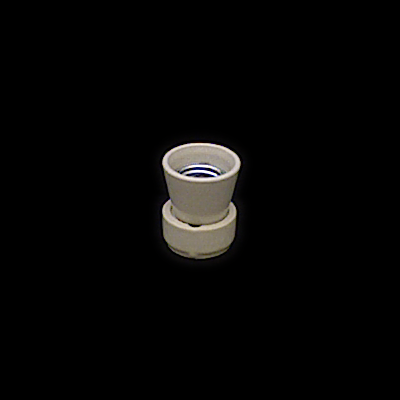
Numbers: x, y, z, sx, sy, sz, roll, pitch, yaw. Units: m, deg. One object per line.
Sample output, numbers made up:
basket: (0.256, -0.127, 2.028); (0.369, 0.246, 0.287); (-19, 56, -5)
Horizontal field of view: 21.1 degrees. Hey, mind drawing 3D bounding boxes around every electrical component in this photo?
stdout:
electrical component: (0.000, 0.000, 0.637); (0.045, 0.056, 0.044); (1, 32, -1)
